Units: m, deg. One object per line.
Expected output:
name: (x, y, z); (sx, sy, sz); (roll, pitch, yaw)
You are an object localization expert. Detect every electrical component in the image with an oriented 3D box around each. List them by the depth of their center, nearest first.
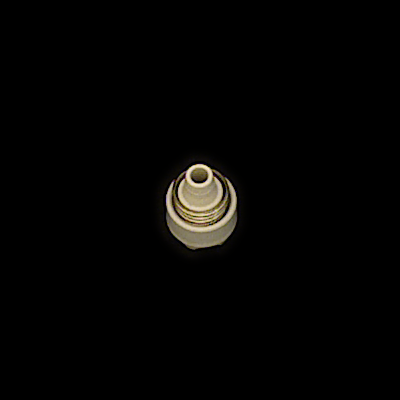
electrical component: (0.000, 0.000, 0.634); (0.043, 0.043, 0.062); (0, -28, 1)
